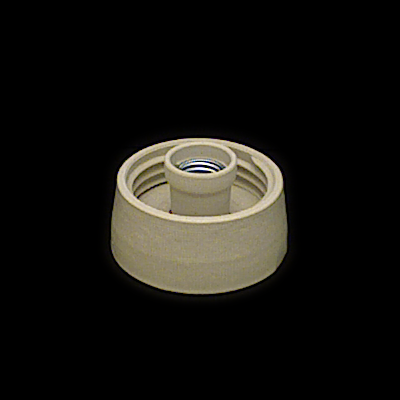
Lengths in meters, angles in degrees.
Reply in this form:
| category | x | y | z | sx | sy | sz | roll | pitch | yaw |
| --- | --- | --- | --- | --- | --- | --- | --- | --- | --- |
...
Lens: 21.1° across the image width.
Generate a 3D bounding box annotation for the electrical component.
| category | x | y | z | sx | sy | sz | roll | pitch | yaw |
| --- | --- | --- | --- | --- | --- | --- | --- | --- | --- |
| electrical component | 0.000 | 0.000 | 0.641 | 0.108 | 0.061 | 0.106 | 1 | 32 | 0 |
